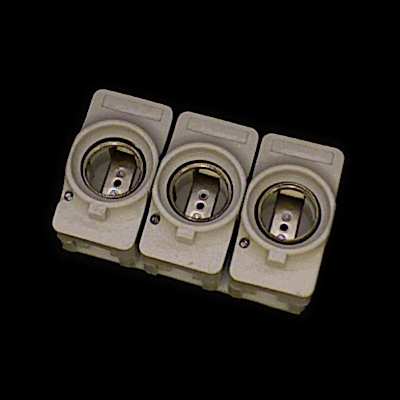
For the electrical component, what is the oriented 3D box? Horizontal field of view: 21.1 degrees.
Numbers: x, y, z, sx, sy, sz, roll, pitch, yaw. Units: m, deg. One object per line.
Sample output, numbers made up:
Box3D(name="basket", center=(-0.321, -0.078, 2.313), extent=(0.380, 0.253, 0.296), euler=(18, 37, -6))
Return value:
Box3D(name="electrical component", center=(0.000, 0.000, 0.631), extent=(0.150, 0.089, 0.062), euler=(14, -16, 5))
